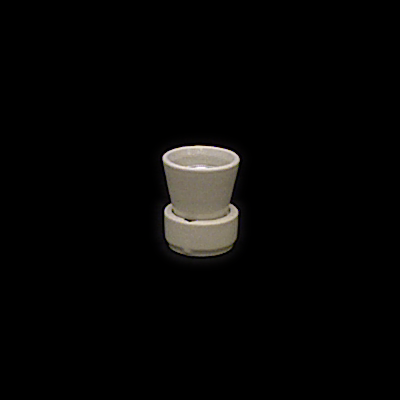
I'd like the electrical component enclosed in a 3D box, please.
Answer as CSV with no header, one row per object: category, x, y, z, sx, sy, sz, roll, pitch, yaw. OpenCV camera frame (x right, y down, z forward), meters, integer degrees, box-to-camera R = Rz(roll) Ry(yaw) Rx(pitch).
electrical component,0.000,0.000,0.638,0.045,0.056,0.044,1,21,0
